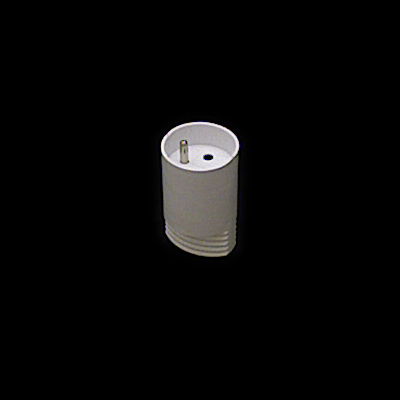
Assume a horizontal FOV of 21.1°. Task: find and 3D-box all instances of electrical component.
[{"bbox_3d":[0.000,0.000,0.622,0.043,0.082,0.042,0,41,0],"label":"electrical component"}]
